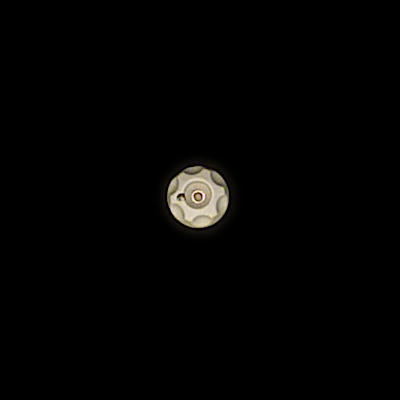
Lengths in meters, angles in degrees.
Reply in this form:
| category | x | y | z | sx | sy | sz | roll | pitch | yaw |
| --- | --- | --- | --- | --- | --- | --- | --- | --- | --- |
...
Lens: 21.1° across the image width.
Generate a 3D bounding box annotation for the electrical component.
| category | x | y | z | sx | sy | sz | roll | pitch | yaw |
| --- | --- | --- | --- | --- | --- | --- | --- | --- | --- |
| electrical component | 0.000 | 0.000 | 0.635 | 0.035 | 0.035 | 0.061 | 0 | -5 | 1 |
